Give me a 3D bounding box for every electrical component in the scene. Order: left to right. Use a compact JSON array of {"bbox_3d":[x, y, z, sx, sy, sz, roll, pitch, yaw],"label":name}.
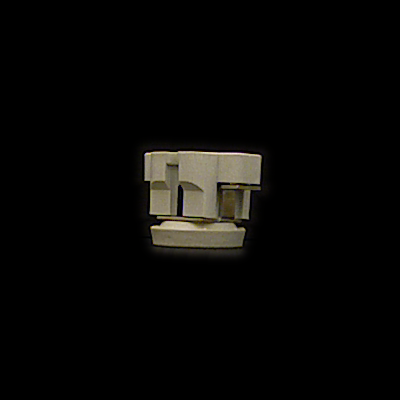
[{"bbox_3d":[0.000,0.000,0.657,0.078,0.057,0.058,4,2,40],"label":"electrical component"}]
